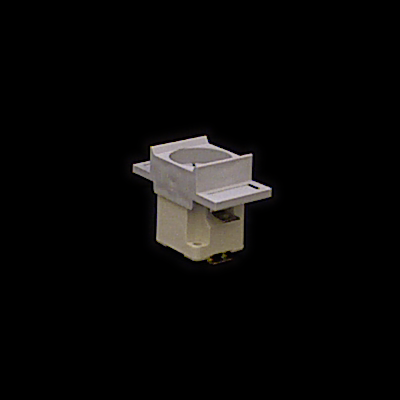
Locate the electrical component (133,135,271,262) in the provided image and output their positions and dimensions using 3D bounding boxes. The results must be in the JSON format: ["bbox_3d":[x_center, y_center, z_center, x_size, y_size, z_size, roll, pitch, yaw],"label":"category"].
[{"bbox_3d":[0.000,0.000,0.639,0.042,0.064,0.080,-16,27,-35],"label":"electrical component"}]
